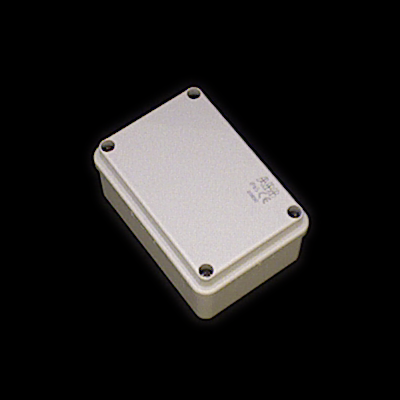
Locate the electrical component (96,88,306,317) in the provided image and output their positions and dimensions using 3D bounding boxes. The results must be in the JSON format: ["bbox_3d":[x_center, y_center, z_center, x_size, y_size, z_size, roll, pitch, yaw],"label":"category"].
[{"bbox_3d":[0.000,0.000,0.628,0.078,0.113,0.057,-33,-22,-16],"label":"electrical component"}]
